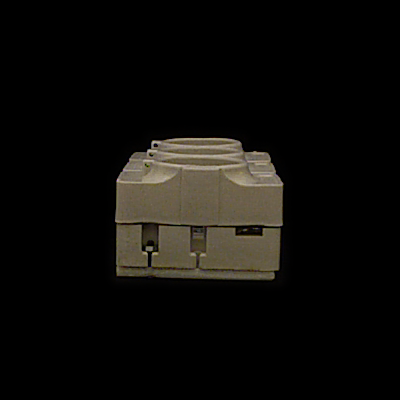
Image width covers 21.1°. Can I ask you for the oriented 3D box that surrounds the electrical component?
[{"bbox_3d":[0.000,0.000,0.650,0.089,0.062,0.148,1,9,0],"label":"electrical component"}]
